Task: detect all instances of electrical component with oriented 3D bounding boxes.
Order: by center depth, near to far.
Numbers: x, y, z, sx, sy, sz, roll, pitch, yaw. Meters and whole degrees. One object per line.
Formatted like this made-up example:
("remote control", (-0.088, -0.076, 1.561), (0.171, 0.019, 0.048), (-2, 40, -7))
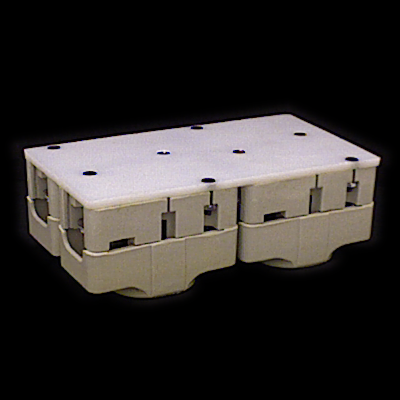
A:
("electrical component", (0.000, 0.000, 0.638), (0.186, 0.061, 0.104), (-9, 23, -26))
